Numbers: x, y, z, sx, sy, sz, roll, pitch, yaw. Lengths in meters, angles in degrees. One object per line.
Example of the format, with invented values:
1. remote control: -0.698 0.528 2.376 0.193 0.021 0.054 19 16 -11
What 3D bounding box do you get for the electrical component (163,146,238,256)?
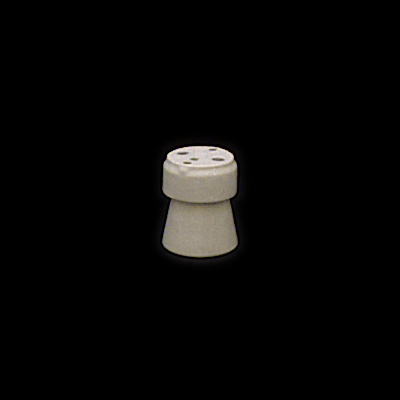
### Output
1. electrical component: 0.000 0.000 0.640 0.045 0.056 0.044 1 21 0
